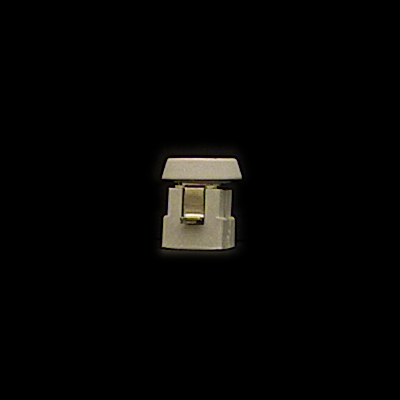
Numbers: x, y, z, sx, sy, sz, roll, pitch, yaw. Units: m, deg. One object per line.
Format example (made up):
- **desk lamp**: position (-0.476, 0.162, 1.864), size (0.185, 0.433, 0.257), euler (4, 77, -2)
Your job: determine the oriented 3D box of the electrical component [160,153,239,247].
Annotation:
- **electrical component**: position (0.000, 0.000, 0.655), size (0.048, 0.055, 0.066), euler (0, 1, 10)
